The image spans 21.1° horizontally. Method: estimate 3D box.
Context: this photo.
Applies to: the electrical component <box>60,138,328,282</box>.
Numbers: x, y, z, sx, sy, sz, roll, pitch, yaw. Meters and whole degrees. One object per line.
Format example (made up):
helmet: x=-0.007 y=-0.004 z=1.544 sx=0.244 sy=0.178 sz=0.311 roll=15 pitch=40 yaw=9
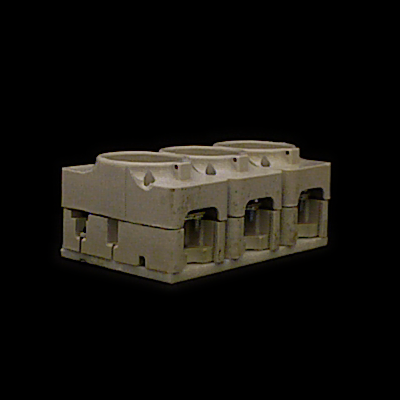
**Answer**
electrical component: x=0.000 y=0.000 z=0.650 sx=0.089 sy=0.062 sz=0.149 roll=10 pitch=14 yaw=39
